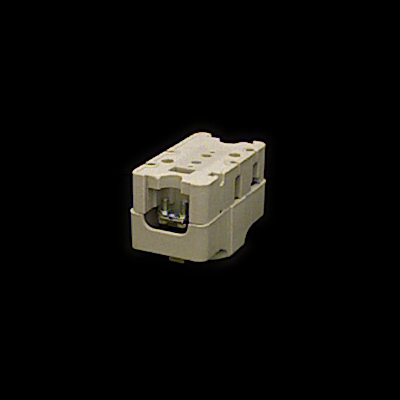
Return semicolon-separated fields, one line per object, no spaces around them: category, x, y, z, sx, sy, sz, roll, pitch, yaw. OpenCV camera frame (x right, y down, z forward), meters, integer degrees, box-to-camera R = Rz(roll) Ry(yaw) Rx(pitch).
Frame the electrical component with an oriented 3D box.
electrical component;0.000;0.000;0.646;0.050;0.056;0.089;12;25;23
